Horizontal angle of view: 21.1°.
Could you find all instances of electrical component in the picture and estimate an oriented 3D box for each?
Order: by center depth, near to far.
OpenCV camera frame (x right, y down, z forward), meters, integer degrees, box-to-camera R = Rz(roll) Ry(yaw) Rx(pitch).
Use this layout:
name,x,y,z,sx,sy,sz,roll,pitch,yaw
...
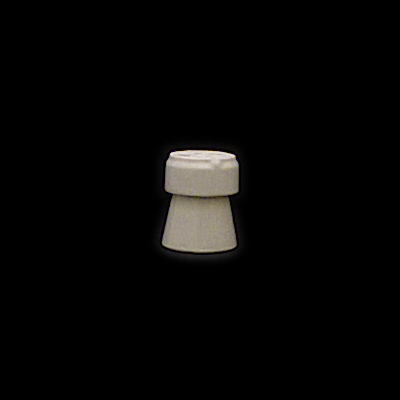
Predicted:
name,x,y,z,sx,sy,sz,roll,pitch,yaw
electrical component,0.000,0.000,0.645,0.045,0.055,0.044,2,11,0
